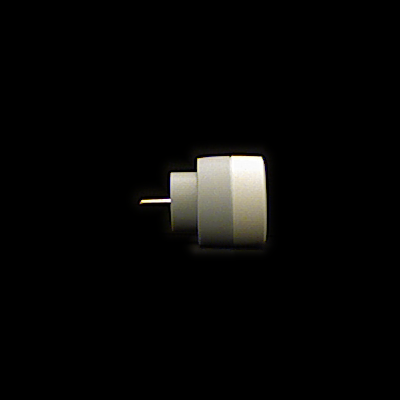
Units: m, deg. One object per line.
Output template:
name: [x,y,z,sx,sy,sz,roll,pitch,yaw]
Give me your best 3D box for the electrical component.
electrical component: [0.000,0.000,0.658,0.074,0.052,0.138,0,1,0]
